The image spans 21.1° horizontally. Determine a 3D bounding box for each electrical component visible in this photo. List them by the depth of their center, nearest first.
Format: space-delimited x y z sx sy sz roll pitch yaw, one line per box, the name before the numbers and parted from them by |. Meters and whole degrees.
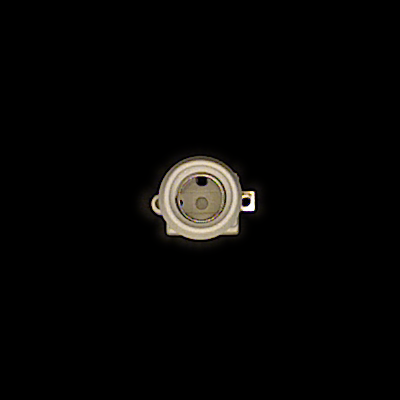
electrical component | 0.000 0.000 0.639 0.066 0.048 0.055 -2 -4 1
